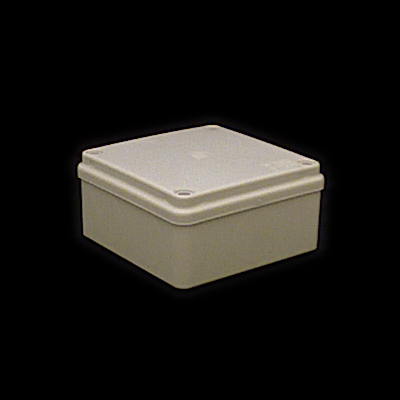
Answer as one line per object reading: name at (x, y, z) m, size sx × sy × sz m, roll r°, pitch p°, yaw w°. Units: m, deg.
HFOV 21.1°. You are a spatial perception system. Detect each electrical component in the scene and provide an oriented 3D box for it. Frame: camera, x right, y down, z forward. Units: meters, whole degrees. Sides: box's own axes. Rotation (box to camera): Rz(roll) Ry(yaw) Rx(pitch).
electrical component at (0.000, 0.000, 0.640) m, size 0.109 × 0.057 × 0.107 m, roll -15°, pitch 25°, yaw -35°
